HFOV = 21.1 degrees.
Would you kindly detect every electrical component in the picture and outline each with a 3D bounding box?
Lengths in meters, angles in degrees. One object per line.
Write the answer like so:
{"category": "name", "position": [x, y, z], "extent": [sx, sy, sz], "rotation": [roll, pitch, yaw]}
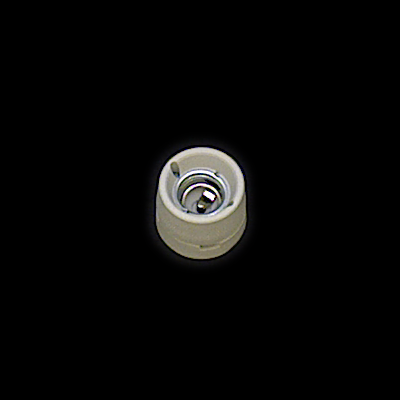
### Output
{"category": "electrical component", "position": [0.000, 0.000, 0.632], "extent": [0.055, 0.056, 0.047], "rotation": [0, -26, -1]}
